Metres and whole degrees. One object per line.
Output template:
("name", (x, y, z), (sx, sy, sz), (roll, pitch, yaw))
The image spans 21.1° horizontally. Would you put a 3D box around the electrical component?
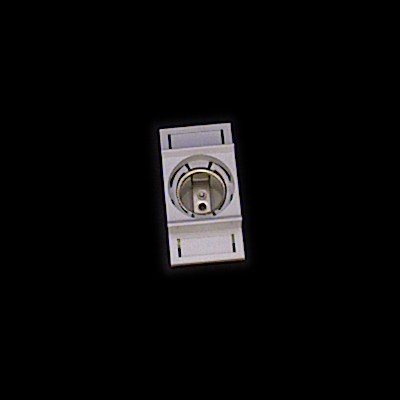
("electrical component", (0.000, 0.000, 0.624), (0.042, 0.081, 0.063), (-5, -16, 0))
